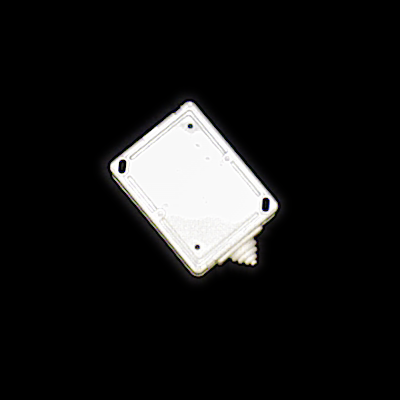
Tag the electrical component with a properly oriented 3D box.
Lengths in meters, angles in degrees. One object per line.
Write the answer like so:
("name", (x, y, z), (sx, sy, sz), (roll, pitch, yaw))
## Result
("electrical component", (0.000, 0.000, 0.626), (0.062, 0.096, 0.060), (-39, -6, -4))
